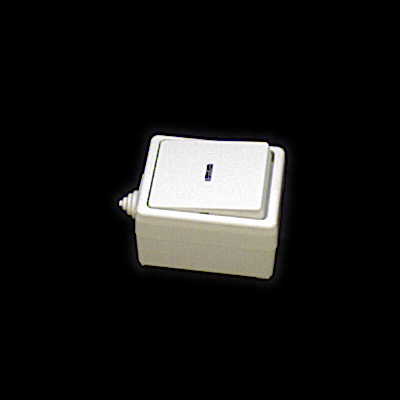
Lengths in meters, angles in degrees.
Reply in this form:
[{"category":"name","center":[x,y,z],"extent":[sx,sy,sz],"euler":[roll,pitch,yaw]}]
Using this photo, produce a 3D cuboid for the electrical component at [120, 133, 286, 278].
[{"category":"electrical component","center":[0.000,0.000,0.628],"extent":[0.096,0.061,0.061],"euler":[6,-38,4]}]
